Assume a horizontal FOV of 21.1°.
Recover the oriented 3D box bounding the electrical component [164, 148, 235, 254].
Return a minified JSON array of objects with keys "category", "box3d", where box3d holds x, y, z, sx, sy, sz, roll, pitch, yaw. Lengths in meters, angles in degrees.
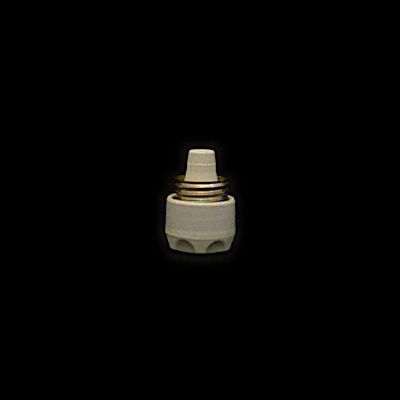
[{"category":"electrical component","box3d":[0.000,0.000,0.652,0.043,0.062,0.043,1,11,0]}]
